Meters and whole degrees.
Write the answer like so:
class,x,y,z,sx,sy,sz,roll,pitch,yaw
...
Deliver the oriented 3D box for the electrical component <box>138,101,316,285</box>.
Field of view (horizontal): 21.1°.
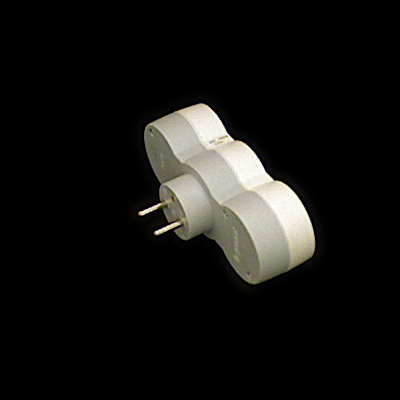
class,x,y,z,sx,sy,sz,roll,pitch,yaw
electrical component,0.000,0.000,0.640,0.074,0.052,0.136,-23,48,-22
